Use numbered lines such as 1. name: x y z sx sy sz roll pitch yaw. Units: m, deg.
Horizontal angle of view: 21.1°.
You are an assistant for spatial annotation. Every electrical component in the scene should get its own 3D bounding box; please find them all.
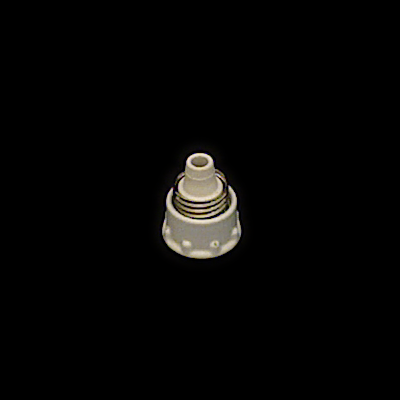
1. electrical component: 0.000 0.000 0.637 0.048 0.062 0.047 0 42 1
